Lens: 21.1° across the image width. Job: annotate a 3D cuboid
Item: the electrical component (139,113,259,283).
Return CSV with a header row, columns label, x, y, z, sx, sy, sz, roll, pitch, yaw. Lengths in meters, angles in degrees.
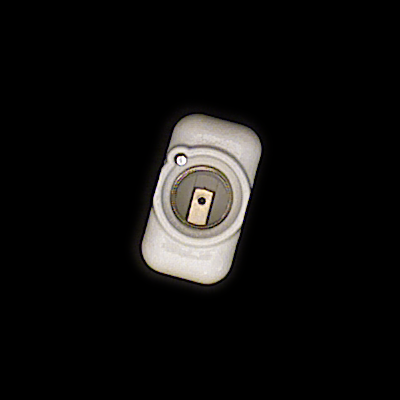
label,x,y,z,sx,sy,sz,roll,pitch,yaw
electrical component,0.000,0.000,0.635,0.054,0.095,0.059,14,-6,2
